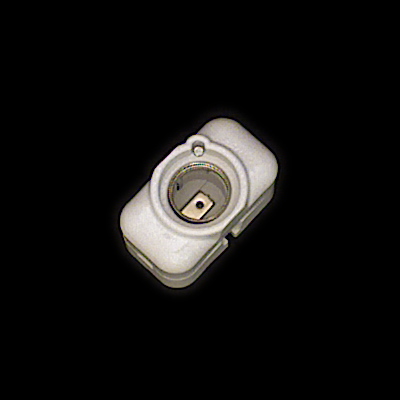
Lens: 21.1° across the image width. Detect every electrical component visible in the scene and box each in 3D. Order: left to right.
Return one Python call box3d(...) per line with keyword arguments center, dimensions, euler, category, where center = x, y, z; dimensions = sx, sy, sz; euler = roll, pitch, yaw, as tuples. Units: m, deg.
box3d(center=(0.000, 0.000, 0.634), dimensions=(0.053, 0.096, 0.059), euler=(41, -12, 10), category="electrical component")
